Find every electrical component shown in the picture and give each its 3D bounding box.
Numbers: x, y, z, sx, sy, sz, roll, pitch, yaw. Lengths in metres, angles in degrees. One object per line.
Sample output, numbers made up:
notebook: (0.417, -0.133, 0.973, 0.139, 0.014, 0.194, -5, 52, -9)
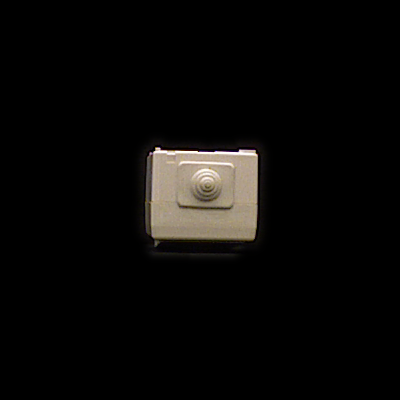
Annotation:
electrical component: (0.000, 0.000, 0.648, 0.062, 0.061, 0.096, 1, 1, -6)
